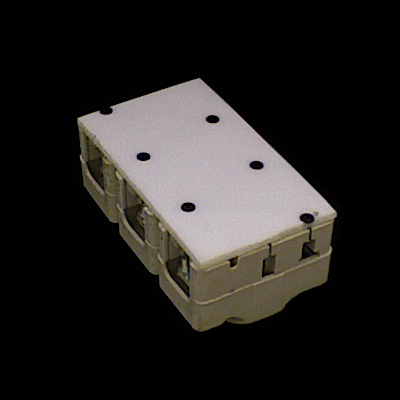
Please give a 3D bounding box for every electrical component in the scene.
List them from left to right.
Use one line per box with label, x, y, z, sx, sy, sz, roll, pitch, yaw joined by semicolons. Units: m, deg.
electrical component;0.000;0.000;0.637;0.089;0.063;0.147;-20;45;-22
